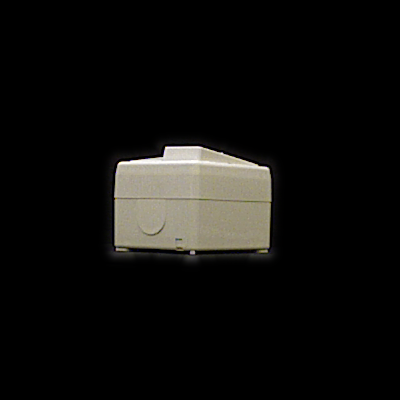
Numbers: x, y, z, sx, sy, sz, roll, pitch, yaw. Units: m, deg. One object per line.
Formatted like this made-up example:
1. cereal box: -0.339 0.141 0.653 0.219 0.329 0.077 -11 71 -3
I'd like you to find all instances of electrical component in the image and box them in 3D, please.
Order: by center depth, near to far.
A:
1. electrical component: 0.000 0.000 0.652 0.061 0.061 0.096 2 0 37
